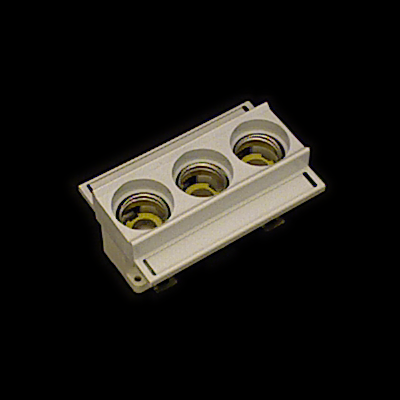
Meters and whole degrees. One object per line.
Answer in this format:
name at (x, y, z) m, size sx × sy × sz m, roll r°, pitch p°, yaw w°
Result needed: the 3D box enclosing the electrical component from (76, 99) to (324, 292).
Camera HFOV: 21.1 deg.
electrical component at (0.000, 0.000, 0.639) m, size 0.121 × 0.078 × 0.063 m, roll -28°, pitch -31°, yaw -19°
